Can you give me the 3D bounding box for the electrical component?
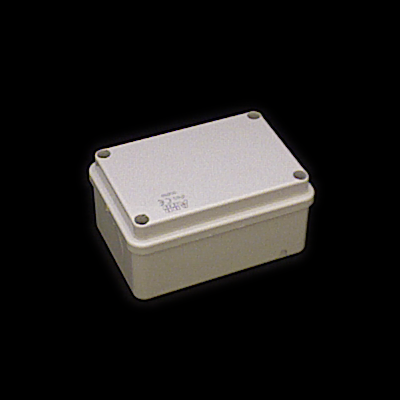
[{"bbox_3d":[0.000,0.000,0.629,0.113,0.057,0.077,-16,45,-18],"label":"electrical component"}]
